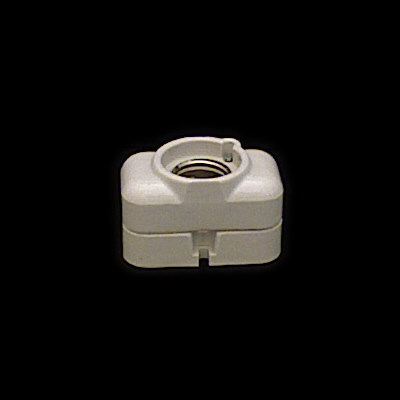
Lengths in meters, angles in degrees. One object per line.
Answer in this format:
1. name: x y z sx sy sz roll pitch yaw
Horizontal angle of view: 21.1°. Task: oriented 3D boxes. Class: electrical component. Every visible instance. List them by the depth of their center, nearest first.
1. electrical component: 0.000 0.000 0.643 0.095 0.060 0.053 -2 33 -5
